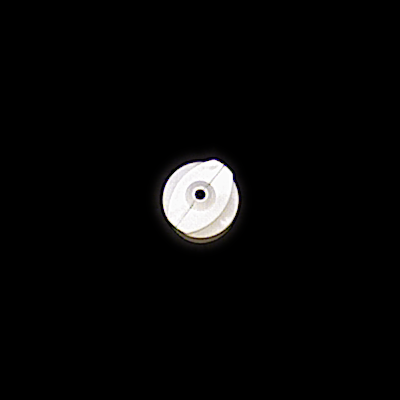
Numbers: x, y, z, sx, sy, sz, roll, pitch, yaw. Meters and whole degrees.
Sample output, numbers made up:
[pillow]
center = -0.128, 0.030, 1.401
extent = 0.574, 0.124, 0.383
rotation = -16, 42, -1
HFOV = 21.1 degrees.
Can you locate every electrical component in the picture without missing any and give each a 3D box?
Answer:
[electrical component]
center = 0.000, 0.000, 0.616
extent = 0.043, 0.043, 0.080
rotation = 0, -6, 1
